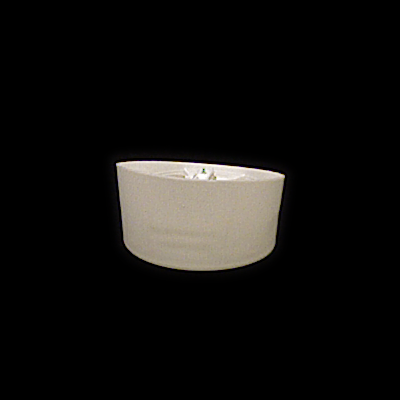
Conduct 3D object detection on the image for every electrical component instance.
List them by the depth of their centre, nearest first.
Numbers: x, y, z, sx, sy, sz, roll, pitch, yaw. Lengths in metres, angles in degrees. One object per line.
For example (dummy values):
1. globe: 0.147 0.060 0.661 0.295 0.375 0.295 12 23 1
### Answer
1. electrical component: 0.000 0.000 0.637 0.099 0.065 0.097 1 22 0
